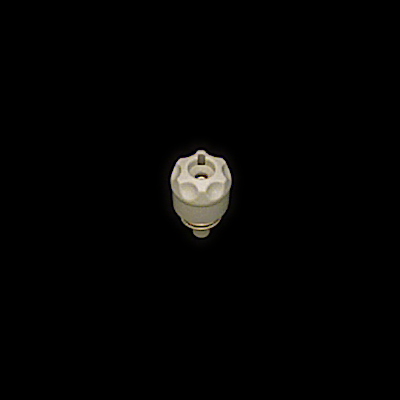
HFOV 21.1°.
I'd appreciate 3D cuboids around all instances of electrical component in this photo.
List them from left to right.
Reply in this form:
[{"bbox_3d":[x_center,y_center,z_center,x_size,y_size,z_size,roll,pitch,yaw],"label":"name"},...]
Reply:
[{"bbox_3d":[0.000,0.000,0.636,0.035,0.035,0.062,0,-37,0],"label":"electrical component"}]
